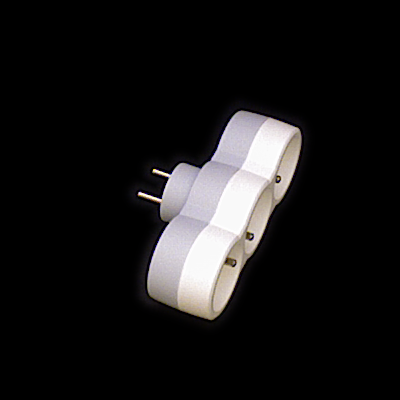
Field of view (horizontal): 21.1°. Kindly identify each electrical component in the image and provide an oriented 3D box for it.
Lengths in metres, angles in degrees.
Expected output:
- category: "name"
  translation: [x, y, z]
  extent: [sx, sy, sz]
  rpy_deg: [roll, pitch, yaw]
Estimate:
- category: "electrical component"
  translation: [0.000, 0.000, 0.629]
  extent: [0.073, 0.138, 0.052]
  rpy_deg: [19, -34, 16]
